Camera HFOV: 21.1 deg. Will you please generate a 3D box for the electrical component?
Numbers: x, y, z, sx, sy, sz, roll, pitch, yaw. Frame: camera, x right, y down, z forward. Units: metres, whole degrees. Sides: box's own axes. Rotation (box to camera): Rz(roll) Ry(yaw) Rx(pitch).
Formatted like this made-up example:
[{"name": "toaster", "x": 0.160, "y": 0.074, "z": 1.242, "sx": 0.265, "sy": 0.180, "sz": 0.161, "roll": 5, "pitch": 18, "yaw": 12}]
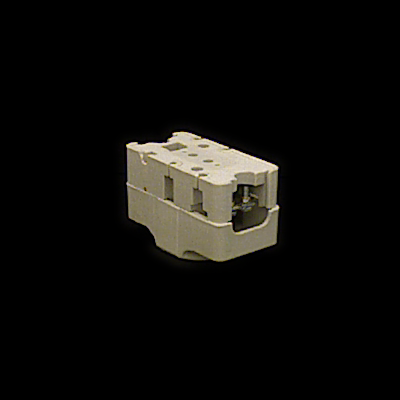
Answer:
[{"name": "electrical component", "x": 0.000, "y": 0.000, "z": 0.646, "sx": 0.050, "sy": 0.056, "sz": 0.088, "roll": -18, "pitch": 28, "yaw": -37}]
